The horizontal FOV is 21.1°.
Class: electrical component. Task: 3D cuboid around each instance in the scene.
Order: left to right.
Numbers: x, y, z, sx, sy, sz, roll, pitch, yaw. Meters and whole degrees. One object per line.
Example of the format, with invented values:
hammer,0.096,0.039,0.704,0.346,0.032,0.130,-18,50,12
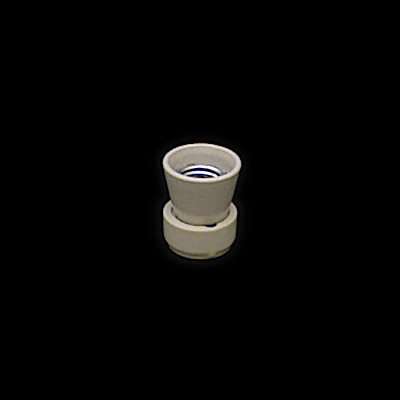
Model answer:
electrical component,0.000,0.000,0.637,0.045,0.056,0.044,1,32,-1
